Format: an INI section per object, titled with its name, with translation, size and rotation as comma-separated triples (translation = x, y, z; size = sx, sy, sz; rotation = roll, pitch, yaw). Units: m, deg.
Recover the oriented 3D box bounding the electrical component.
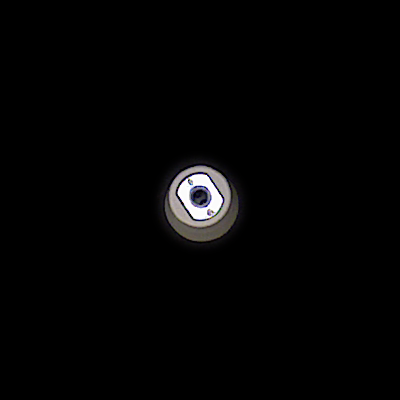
[electrical component]
translation = 0.000, 0.000, 0.626
size = 0.044, 0.044, 0.065
rotation = 0, -5, 1
